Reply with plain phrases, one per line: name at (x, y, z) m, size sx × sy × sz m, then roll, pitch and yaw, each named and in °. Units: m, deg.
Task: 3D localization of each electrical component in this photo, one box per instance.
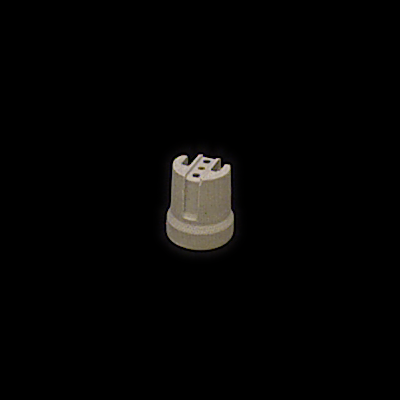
electrical component at (0.000, 0.000, 0.639) m, size 0.040 × 0.046 × 0.040 m, roll 1°, pitch 32°, yaw -1°
